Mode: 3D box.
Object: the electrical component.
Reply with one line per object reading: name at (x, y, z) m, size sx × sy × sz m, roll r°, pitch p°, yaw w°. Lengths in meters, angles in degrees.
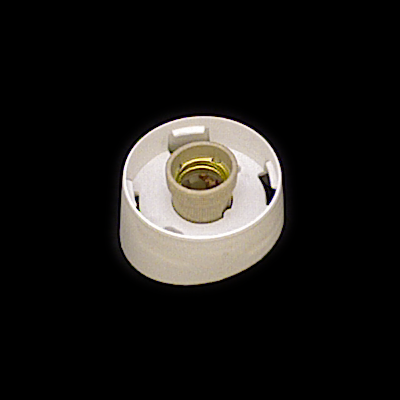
electrical component at (0.000, 0.000, 0.627) m, size 0.099 × 0.098 × 0.064 m, roll 0°, pitch -38°, yaw 0°
